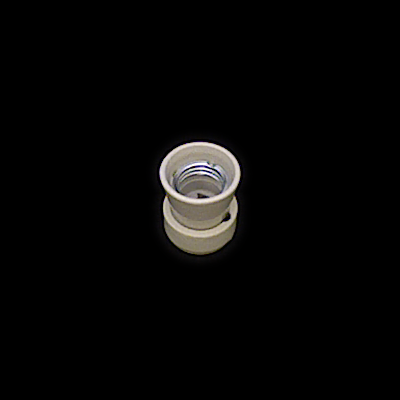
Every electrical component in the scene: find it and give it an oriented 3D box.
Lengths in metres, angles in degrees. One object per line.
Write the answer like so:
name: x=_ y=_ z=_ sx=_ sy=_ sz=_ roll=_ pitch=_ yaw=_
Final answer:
electrical component: x=0.000 y=0.000 z=0.628 sx=0.045 sy=0.044 sz=0.055 roll=0 pitch=-37 yaw=0
